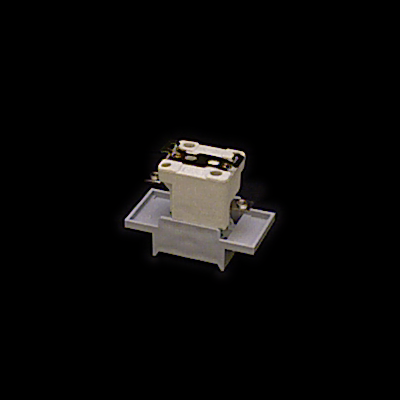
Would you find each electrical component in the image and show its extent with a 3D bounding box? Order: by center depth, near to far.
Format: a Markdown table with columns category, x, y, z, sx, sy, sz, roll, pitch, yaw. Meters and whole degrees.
| category | x | y | z | sx | sy | sz | roll | pitch | yaw |
| --- | --- | --- | --- | --- | --- | --- | --- | --- | --- |
| electrical component | 0.000 | 0.000 | 0.634 | 0.080 | 0.064 | 0.042 | 11 | 33 | 16 |
